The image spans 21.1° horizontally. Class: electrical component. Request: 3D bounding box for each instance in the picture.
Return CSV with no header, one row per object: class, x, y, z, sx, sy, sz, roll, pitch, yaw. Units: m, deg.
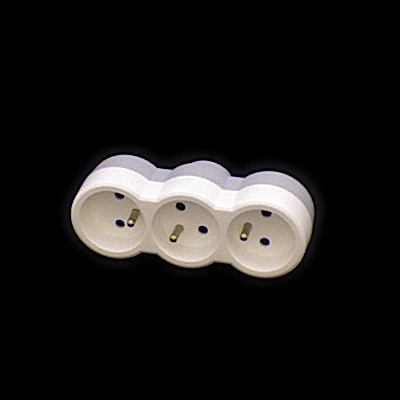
electrical component,0.000,0.000,0.637,0.138,0.053,0.073,7,30,10
